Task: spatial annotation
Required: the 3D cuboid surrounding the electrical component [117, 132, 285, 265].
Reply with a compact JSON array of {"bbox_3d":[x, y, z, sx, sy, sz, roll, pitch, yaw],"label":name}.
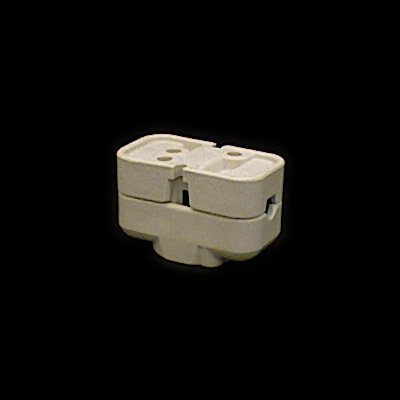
[{"bbox_3d":[0.000,0.000,0.643,0.094,0.060,0.053,12,25,25],"label":"electrical component"}]
